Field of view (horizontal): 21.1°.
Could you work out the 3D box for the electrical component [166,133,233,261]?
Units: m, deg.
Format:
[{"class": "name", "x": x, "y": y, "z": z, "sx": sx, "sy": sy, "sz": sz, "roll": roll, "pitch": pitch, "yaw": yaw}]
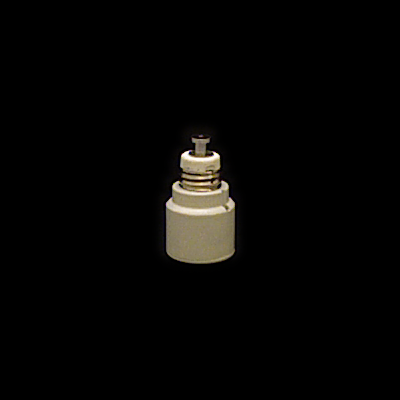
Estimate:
[{"class": "electrical component", "x": 0.000, "y": 0.000, "z": 0.634, "sx": 0.040, "sy": 0.079, "sz": 0.039, "roll": 0, "pitch": 21, "yaw": 0}]
